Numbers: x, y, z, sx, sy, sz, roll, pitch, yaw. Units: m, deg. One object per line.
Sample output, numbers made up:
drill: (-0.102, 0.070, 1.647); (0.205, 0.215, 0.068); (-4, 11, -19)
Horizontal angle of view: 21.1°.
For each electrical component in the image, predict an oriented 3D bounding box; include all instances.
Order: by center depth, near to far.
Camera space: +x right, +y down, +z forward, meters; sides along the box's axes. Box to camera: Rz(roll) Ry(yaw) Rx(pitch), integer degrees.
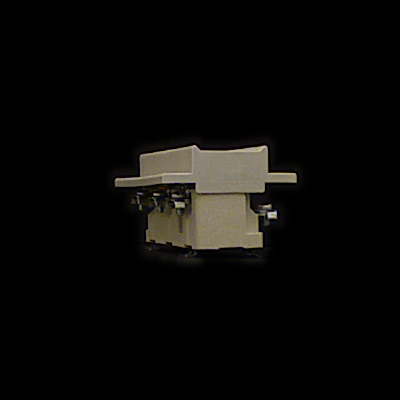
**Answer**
electrical component: (0.000, 0.000, 0.660); (0.079, 0.063, 0.121); (-1, 1, -17)
